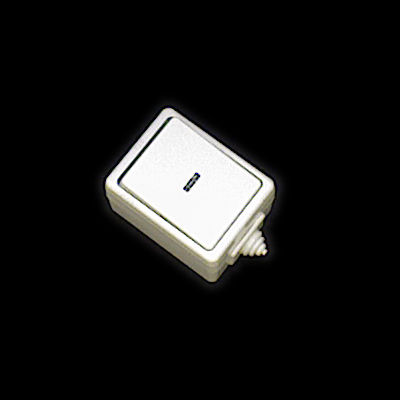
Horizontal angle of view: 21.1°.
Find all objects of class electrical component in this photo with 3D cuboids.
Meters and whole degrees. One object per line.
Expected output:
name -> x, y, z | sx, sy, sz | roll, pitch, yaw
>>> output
electrical component -> 0.000, 0.000, 0.625 | 0.096, 0.062, 0.060 | 36, -13, 10
